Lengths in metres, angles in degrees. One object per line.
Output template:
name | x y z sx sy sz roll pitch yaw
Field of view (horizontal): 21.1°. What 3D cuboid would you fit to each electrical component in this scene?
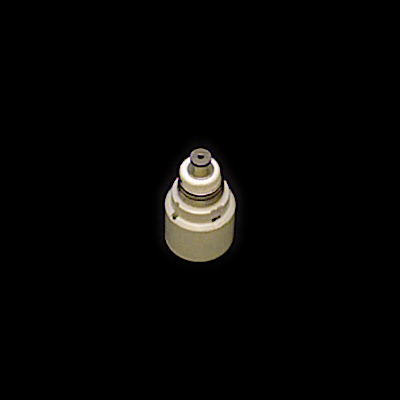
electrical component | 0.000 0.000 0.620 0.040 0.040 0.079 0 -39 -1
